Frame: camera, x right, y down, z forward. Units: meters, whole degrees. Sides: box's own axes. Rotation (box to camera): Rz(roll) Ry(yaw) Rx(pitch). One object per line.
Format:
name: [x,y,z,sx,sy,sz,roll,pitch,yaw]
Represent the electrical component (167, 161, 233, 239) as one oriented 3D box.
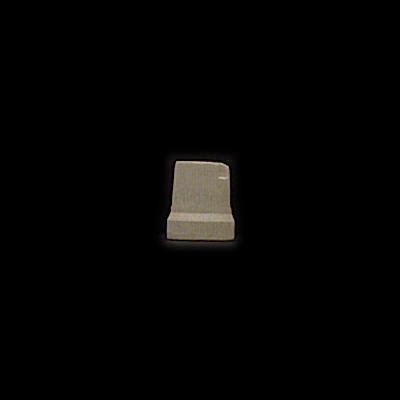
electrical component: [0.000,0.000,0.649,0.040,0.046,0.040,1,2,0]
